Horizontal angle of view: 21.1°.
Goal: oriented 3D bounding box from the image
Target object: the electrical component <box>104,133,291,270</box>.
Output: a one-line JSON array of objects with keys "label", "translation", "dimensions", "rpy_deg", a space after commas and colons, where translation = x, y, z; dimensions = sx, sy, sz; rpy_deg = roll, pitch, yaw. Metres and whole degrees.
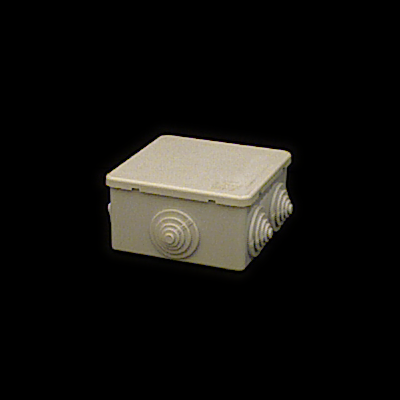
[{"label": "electrical component", "translation": [0.000, 0.000, 0.647], "dimensions": [0.099, 0.049, 0.099], "rpy_deg": [9, 23, 19]}]
